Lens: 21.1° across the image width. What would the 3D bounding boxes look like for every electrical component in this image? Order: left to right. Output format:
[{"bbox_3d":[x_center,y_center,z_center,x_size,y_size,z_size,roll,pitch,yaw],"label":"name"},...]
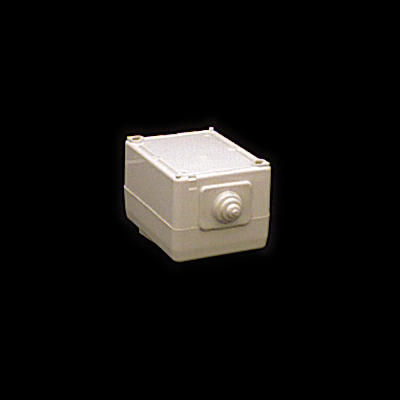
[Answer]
[{"bbox_3d":[0.000,0.000,0.637,0.062,0.061,0.095,-9,24,-24],"label":"electrical component"}]
